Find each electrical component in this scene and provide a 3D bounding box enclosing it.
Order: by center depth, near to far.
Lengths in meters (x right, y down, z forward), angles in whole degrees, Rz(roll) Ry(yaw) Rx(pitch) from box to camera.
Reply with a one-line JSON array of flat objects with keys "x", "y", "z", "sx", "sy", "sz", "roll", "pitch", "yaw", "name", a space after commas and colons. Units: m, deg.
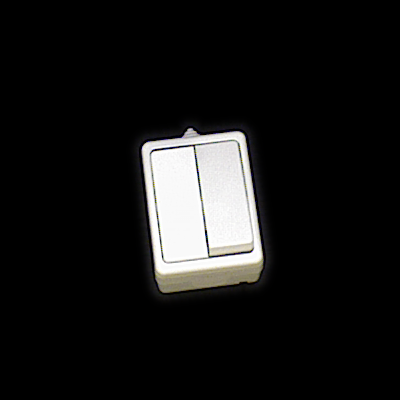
[{"x": 0.000, "y": 0.000, "z": 0.627, "sx": 0.062, "sy": 0.096, "sz": 0.060, "roll": -7, "pitch": -17, "yaw": -2, "name": "electrical component"}]
